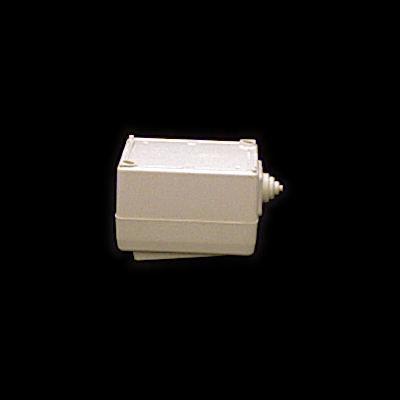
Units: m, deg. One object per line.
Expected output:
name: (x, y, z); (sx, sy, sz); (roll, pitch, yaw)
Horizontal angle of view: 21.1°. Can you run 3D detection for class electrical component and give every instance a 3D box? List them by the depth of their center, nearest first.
electrical component: (0.000, 0.000, 0.637); (0.096, 0.061, 0.061); (2, 21, 1)
